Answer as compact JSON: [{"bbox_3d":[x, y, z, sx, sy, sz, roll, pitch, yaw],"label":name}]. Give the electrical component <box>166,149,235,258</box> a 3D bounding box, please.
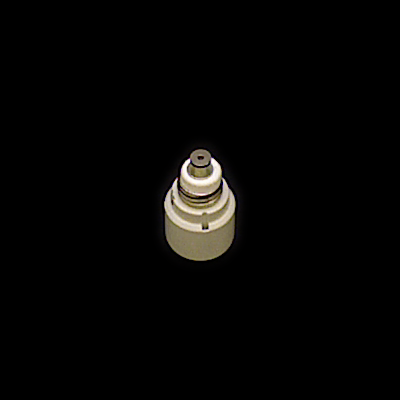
[{"bbox_3d":[0.000,0.000,0.622,0.040,0.040,0.079,0,-37,-1],"label":"electrical component"}]
